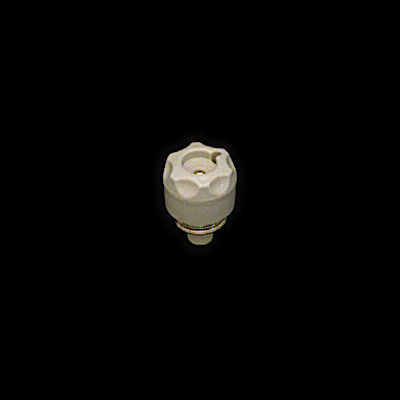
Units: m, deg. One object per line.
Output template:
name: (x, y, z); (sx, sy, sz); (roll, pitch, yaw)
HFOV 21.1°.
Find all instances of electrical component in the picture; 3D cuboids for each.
electrical component: (0.000, 0.000, 0.637); (0.043, 0.062, 0.043); (0, 43, 0)
